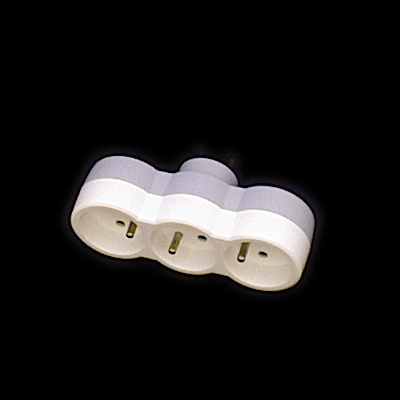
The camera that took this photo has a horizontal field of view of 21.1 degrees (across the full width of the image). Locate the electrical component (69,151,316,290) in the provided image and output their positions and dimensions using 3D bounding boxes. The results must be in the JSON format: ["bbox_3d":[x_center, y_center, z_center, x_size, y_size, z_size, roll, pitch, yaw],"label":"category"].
[{"bbox_3d":[0.000,0.000,0.632,0.138,0.074,0.052,12,-39,9],"label":"electrical component"}]
